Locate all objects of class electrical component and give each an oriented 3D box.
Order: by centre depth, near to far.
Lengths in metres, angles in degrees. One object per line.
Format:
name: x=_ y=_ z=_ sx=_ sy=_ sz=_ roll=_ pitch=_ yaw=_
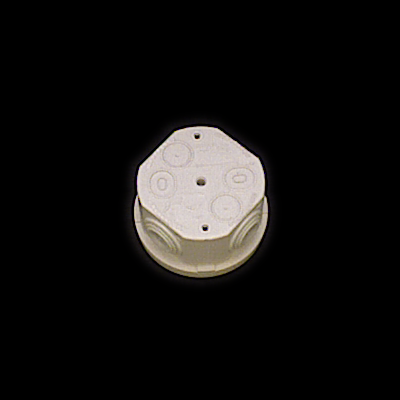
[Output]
electrical component: x=0.000 y=0.000 z=0.631 sx=0.080 sy=0.080 sz=0.050 roll=0 pitch=-26 yaw=0
